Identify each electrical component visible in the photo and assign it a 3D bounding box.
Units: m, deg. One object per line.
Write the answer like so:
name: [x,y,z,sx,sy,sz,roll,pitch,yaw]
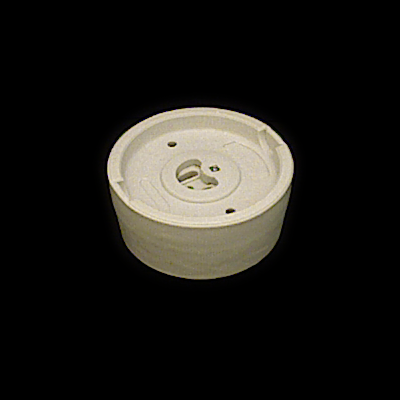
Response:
electrical component: [0.000,0.000,0.641,0.108,0.061,0.106,1,43,0]
